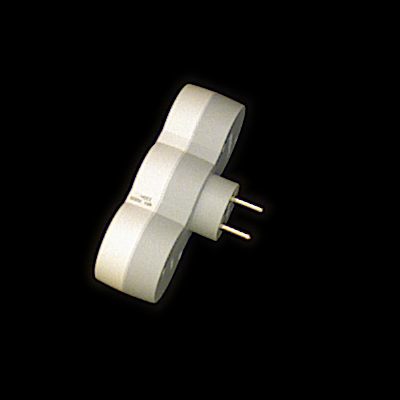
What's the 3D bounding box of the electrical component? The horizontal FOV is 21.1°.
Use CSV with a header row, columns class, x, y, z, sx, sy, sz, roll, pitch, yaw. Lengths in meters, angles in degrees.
class,x,y,z,sx,sy,sz,roll,pitch,yaw
electrical component,0.000,0.000,0.636,0.073,0.139,0.052,22,-25,9
